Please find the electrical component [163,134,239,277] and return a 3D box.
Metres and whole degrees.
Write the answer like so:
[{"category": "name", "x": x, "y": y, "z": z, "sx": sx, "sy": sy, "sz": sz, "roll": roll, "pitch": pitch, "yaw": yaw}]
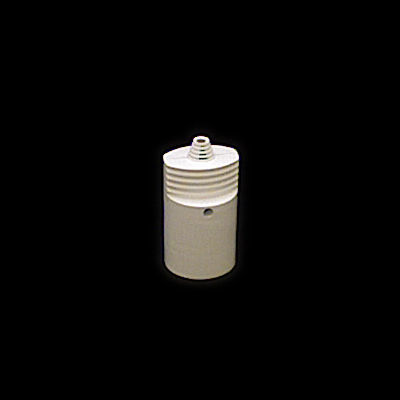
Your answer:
[{"category": "electrical component", "x": 0.000, "y": 0.000, "z": 0.628, "sx": 0.043, "sy": 0.082, "sz": 0.042, "roll": 1, "pitch": 31, "yaw": 0}]
